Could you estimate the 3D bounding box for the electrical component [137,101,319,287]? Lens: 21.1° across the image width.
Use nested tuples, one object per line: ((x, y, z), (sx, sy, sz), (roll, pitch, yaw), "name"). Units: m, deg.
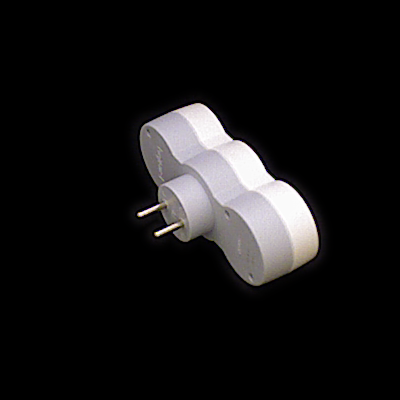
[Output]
((0.000, 0.000, 0.632), (0.073, 0.052, 0.137), (-25, 49, -23), "electrical component")
